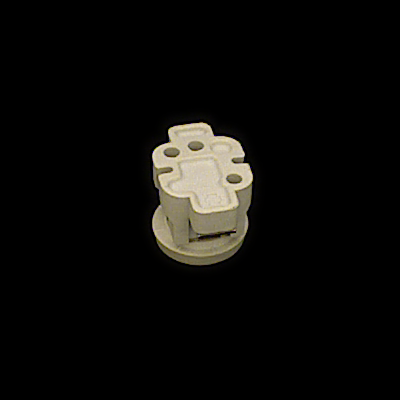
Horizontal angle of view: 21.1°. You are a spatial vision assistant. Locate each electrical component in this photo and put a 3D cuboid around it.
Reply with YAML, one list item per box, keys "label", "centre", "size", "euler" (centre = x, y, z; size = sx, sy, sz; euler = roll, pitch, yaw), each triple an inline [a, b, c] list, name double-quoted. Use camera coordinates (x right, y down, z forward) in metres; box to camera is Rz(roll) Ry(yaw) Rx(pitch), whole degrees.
- label: "electrical component"
  centre: [0.000, 0.000, 0.638]
  size: [0.058, 0.057, 0.077]
  euler: [-9, 45, -11]
